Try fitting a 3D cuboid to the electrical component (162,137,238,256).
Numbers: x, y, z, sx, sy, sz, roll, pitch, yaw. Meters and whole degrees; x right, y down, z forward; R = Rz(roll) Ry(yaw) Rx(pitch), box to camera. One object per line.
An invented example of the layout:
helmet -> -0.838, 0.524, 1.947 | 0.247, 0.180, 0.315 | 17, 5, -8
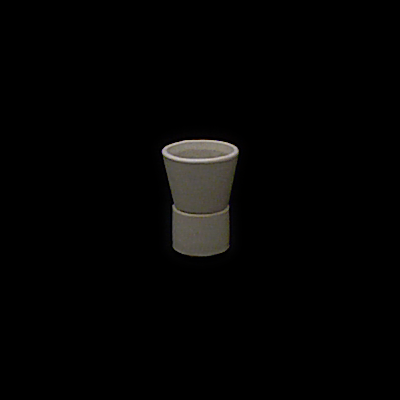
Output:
electrical component -> 0.000, 0.000, 0.639 | 0.044, 0.066, 0.044 | 0, 21, 0
